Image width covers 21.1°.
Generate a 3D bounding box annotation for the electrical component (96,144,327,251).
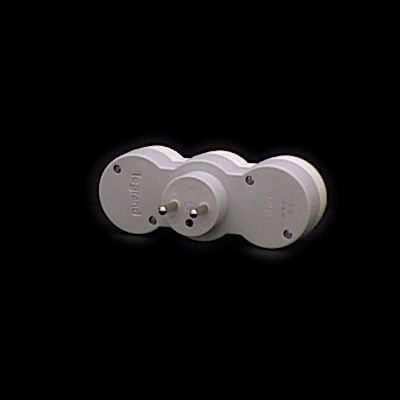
[{"bbox_3d":[0.000,0.000,0.644,0.138,0.052,0.073,6,14,20],"label":"electrical component"}]
